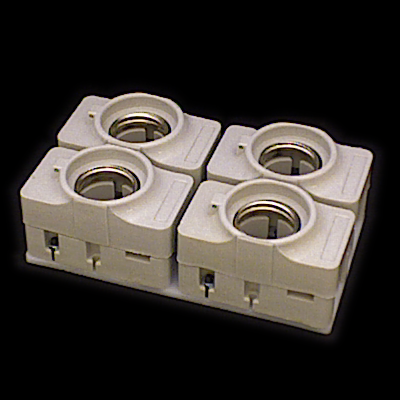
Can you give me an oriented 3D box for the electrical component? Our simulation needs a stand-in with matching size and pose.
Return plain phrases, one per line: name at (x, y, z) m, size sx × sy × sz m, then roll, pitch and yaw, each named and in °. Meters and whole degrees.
electrical component at (0.000, 0.000, 0.629) m, size 0.186 × 0.061 × 0.105 m, roll 12°, pitch 43°, yaw 13°
